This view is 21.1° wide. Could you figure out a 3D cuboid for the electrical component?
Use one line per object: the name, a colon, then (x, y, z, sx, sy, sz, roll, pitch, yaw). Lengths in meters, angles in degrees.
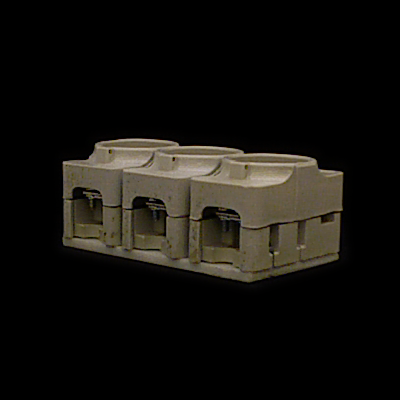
electrical component: (0.000, 0.000, 0.649, 0.149, 0.062, 0.089, 8, 13, 39)
